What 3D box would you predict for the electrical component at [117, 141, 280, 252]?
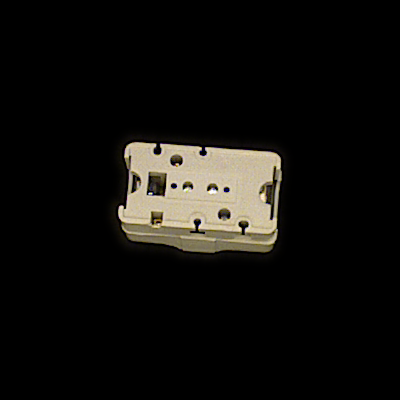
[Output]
[{"bbox_3d":[0.000,0.000,0.636,0.089,0.050,0.055,4,-15,2],"label":"electrical component"}]
